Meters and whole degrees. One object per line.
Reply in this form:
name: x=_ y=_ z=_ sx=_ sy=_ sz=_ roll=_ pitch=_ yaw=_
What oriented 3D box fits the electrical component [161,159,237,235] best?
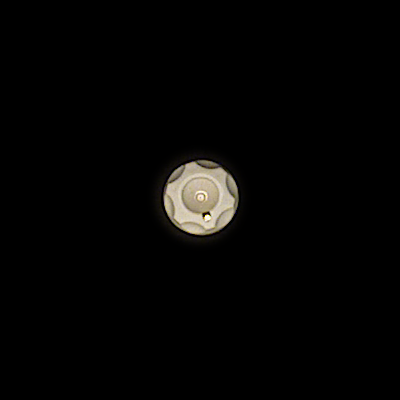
electrical component: x=0.000 y=0.000 z=0.635 sx=0.043 sy=0.043 sz=0.062 roll=0 pitch=-6 yaw=2
